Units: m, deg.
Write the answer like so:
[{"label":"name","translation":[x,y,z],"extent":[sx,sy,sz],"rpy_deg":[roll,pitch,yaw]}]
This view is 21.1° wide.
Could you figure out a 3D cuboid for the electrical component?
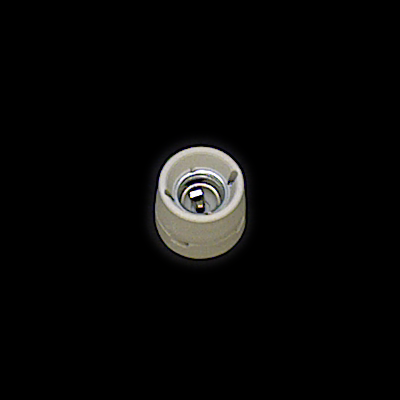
[{"label":"electrical component","translation":[0.000,0.000,0.633],"extent":[0.055,0.055,0.047],"rpy_deg":[0,-27,-1]}]
